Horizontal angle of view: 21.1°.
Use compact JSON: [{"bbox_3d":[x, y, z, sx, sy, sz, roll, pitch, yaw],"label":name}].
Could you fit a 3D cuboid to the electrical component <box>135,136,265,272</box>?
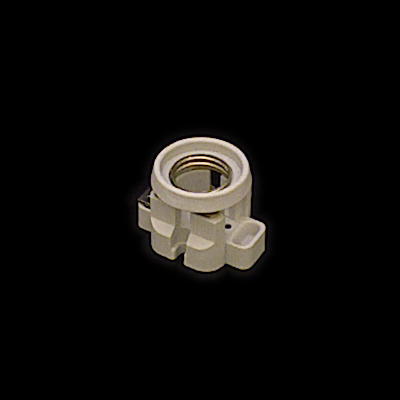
[{"bbox_3d":[0.000,0.000,0.631,0.078,0.057,0.057,22,46,22],"label":"electrical component"}]
